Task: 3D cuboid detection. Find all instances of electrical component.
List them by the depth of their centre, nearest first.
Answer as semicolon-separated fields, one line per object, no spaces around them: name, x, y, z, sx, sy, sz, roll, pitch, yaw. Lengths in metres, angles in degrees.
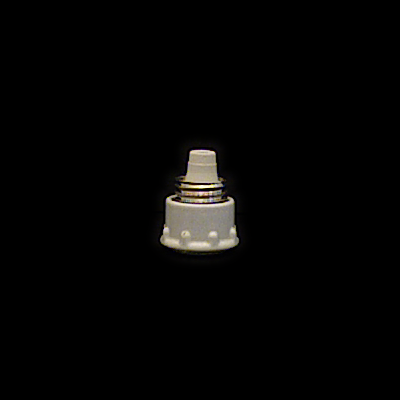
electrical component;0.000;0.000;0.652;0.048;0.062;0.048;2;12;0
